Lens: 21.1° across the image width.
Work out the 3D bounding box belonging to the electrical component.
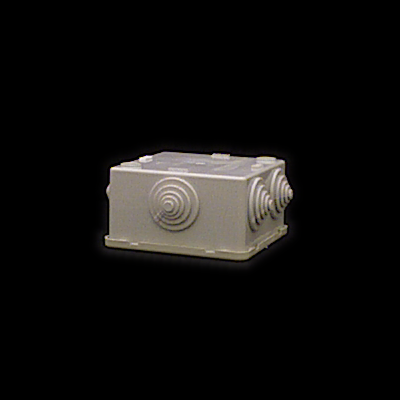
[{"bbox_3d":[0.000,0.000,0.646,0.099,0.049,0.099,5,11,20],"label":"electrical component"}]
